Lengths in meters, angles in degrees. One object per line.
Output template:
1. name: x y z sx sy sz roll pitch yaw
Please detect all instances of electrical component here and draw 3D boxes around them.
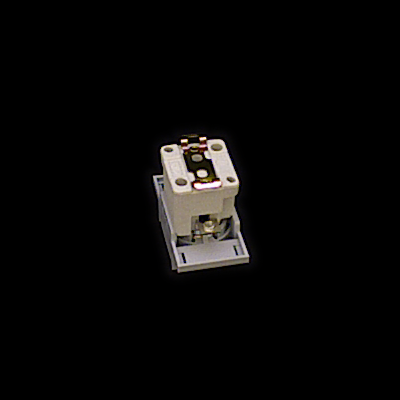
1. electrical component: 0.000 0.000 0.629 0.042 0.064 0.080 -8 43 -10
